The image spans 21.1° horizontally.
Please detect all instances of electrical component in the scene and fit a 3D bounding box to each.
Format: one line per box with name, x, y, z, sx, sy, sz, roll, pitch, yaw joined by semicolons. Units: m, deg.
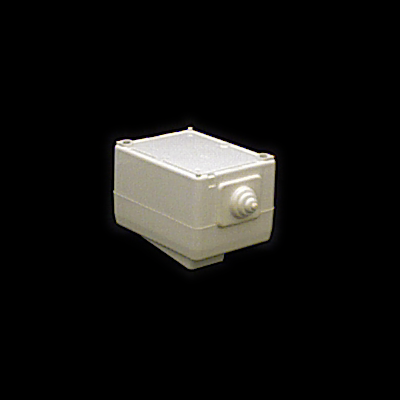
electrical component;0.000;0.000;0.635;0.061;0.061;0.096;-15;26;-38
